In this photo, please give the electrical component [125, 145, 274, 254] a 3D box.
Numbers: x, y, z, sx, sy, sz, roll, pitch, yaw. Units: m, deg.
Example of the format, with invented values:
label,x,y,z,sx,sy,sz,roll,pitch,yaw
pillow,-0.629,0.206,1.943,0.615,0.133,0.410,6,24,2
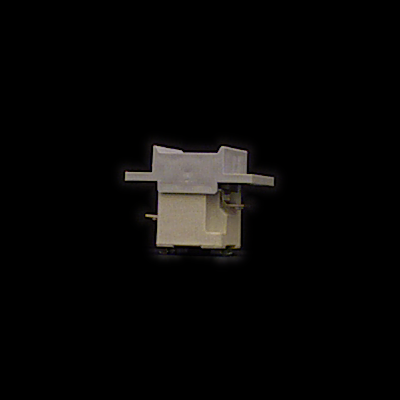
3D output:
label,x,y,z,sx,sy,sz,roll,pitch,yaw
electrical component,0.000,0.000,0.650,0.080,0.064,0.042,2,2,21
